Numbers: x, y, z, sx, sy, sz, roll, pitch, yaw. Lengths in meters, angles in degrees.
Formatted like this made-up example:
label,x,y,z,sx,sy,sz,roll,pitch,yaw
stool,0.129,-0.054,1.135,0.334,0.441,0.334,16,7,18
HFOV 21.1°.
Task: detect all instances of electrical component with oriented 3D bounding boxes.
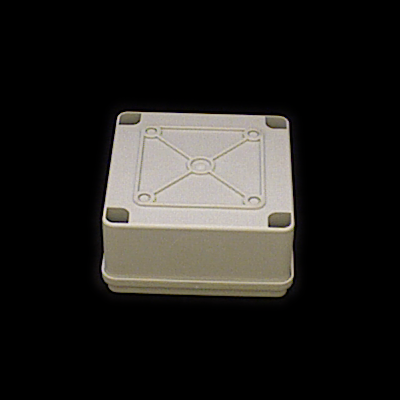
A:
label,x,y,z,sx,sy,sz,roll,pitch,yaw
electrical component,0.000,0.000,0.634,0.109,0.057,0.107,2,41,0
